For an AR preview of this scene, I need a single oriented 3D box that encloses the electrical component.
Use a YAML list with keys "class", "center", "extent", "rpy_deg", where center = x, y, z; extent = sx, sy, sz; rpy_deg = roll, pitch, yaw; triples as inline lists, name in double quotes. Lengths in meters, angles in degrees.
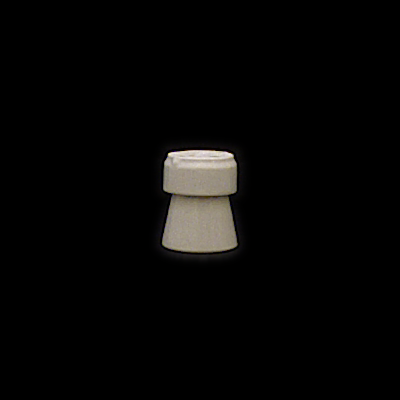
- class: "electrical component"
  center: [0.000, 0.000, 0.646]
  extent: [0.045, 0.055, 0.044]
  rpy_deg: [1, 11, 0]
